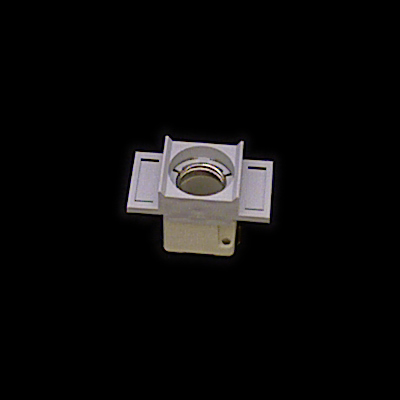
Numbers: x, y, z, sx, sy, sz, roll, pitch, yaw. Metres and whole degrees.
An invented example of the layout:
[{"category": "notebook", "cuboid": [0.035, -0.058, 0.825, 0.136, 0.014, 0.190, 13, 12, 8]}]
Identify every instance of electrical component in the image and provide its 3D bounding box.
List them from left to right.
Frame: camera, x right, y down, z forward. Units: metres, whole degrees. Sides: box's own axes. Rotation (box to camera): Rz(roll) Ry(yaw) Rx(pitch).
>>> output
[{"category": "electrical component", "cuboid": [0.000, 0.000, 0.626, 0.081, 0.042, 0.064, 5, -37, 2]}]
